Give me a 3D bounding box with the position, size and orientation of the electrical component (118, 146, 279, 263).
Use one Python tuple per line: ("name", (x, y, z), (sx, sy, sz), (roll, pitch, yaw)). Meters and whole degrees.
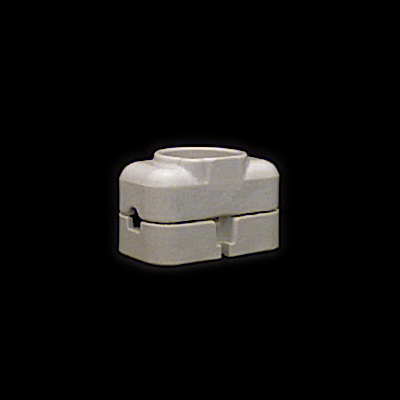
("electrical component", (0.000, 0.000, 0.649), (0.096, 0.060, 0.053), (-7, 14, -35))
